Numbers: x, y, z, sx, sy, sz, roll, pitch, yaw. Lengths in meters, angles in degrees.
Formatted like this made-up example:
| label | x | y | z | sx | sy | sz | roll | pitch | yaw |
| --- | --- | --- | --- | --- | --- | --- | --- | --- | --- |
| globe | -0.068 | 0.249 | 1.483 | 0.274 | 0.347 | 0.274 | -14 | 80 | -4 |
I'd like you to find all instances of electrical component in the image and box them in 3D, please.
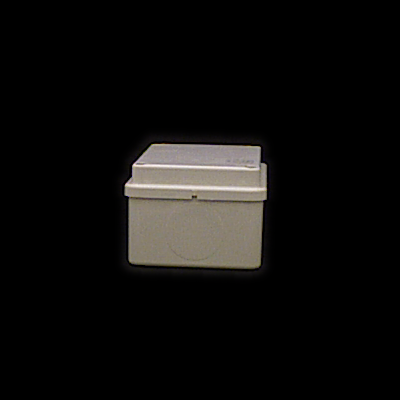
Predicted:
| label | x | y | z | sx | sy | sz | roll | pitch | yaw |
| --- | --- | --- | --- | --- | --- | --- | --- | --- | --- |
| electrical component | 0.000 | 0.000 | 0.644 | 0.078 | 0.057 | 0.112 | 2 | 10 | 3 |
